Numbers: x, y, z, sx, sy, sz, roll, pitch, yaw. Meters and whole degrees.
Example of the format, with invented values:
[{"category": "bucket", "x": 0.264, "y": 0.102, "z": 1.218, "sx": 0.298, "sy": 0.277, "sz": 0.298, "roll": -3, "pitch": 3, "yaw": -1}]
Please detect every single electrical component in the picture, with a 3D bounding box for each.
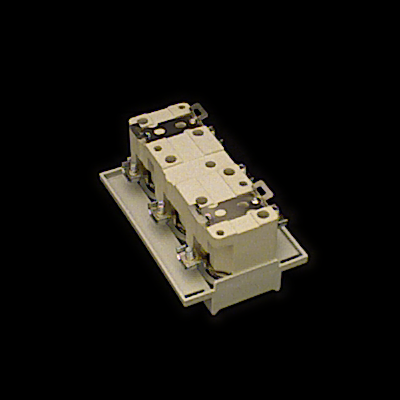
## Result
[{"category": "electrical component", "x": 0.000, "y": 0.000, "z": 0.636, "sx": 0.079, "sy": 0.063, "sz": 0.119, "roll": -19, "pitch": 46, "yaw": -20}]
